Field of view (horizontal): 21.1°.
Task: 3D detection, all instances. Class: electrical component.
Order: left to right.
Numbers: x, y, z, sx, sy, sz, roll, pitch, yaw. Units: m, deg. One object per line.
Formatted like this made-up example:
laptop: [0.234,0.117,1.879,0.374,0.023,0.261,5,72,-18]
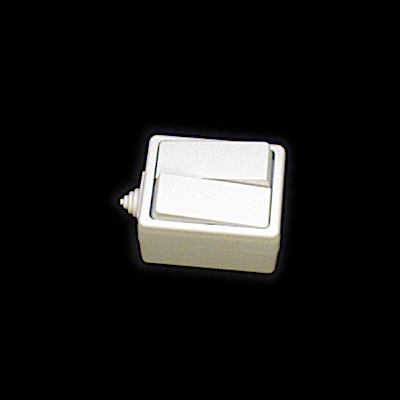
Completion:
electrical component: [0.000,0.000,0.627,0.096,0.062,0.061,5,-28,3]
